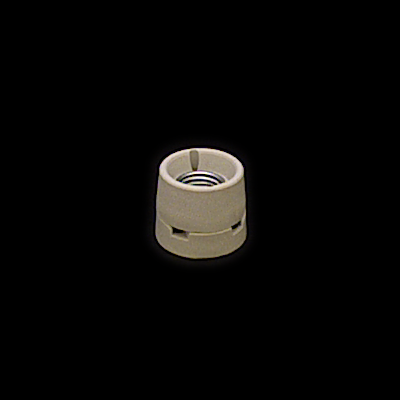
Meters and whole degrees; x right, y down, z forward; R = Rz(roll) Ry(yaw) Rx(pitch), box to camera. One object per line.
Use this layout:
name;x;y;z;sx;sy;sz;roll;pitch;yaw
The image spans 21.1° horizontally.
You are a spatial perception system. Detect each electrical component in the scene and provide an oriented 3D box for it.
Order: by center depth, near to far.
electrical component;0.000;0.000;0.636;0.055;0.047;0.055;1;33;0
